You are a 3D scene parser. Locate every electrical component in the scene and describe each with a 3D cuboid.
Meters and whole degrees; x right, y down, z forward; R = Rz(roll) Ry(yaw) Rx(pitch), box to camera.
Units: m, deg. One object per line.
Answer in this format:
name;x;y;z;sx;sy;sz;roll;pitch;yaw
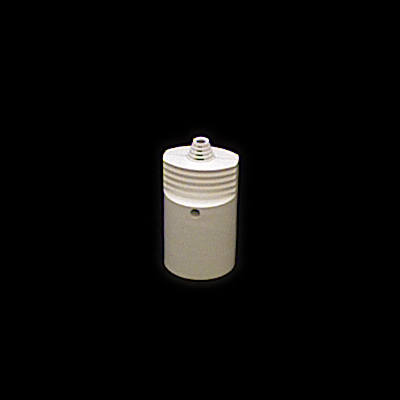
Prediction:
electrical component;0.000;0.000;0.629;0.043;0.082;0.042;1;31;0
